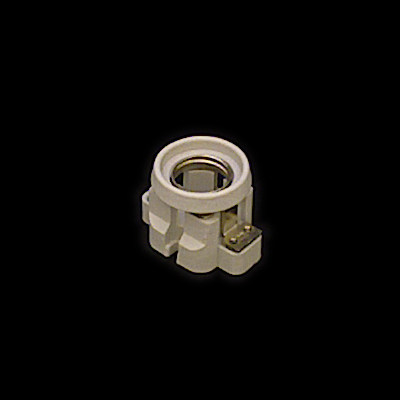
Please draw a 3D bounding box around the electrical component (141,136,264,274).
[{"bbox_3d":[0.000,0.000,0.631,0.078,0.057,0.057,30,50,28],"label":"electrical component"}]
